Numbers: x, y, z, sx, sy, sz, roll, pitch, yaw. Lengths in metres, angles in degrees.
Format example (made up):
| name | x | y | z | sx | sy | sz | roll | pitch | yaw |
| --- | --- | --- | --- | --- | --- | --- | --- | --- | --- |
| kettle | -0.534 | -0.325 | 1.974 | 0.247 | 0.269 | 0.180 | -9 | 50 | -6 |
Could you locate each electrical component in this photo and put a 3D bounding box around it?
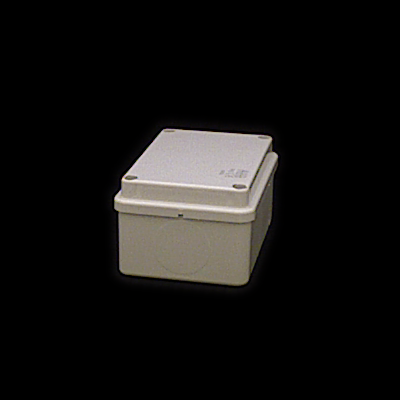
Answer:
| name | x | y | z | sx | sy | sz | roll | pitch | yaw |
| --- | --- | --- | --- | --- | --- | --- | --- | --- | --- |
| electrical component | 0.000 | 0.000 | 0.638 | 0.078 | 0.058 | 0.112 | 5 | 21 | 10 |
